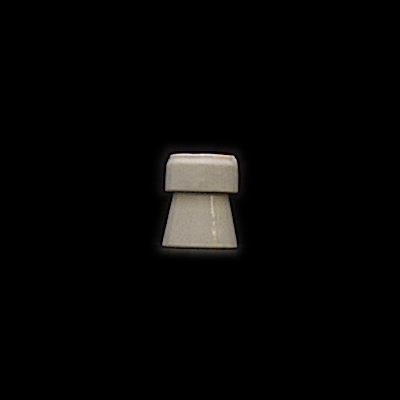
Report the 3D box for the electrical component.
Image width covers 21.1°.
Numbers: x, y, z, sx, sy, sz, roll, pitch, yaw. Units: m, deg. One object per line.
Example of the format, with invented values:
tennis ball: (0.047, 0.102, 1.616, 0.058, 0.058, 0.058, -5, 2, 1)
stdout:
electrical component: (0.000, 0.000, 0.651, 0.045, 0.055, 0.045, 2, 1, 0)
